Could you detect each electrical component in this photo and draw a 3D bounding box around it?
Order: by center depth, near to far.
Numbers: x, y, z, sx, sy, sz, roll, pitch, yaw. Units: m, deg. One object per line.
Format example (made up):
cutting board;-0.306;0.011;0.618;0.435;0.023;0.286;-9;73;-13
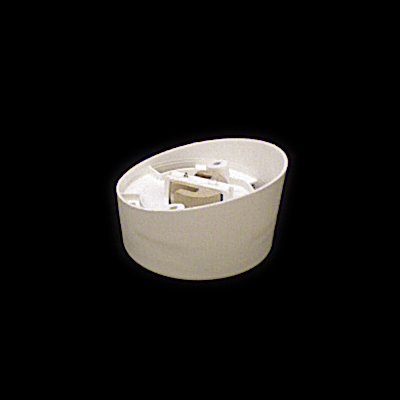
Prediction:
electrical component;0.000;0.000;0.633;0.099;0.065;0.097;2;31;-1
